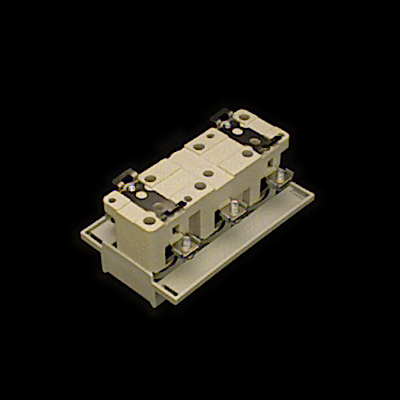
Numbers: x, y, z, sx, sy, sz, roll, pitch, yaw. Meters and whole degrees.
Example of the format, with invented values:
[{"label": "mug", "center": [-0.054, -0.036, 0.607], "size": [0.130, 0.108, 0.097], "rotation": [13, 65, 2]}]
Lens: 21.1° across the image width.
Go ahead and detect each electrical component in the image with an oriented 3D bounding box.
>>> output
[{"label": "electrical component", "center": [0.000, 0.000, 0.639], "size": [0.077, 0.063, 0.122], "rotation": [32, 51, 30]}]
